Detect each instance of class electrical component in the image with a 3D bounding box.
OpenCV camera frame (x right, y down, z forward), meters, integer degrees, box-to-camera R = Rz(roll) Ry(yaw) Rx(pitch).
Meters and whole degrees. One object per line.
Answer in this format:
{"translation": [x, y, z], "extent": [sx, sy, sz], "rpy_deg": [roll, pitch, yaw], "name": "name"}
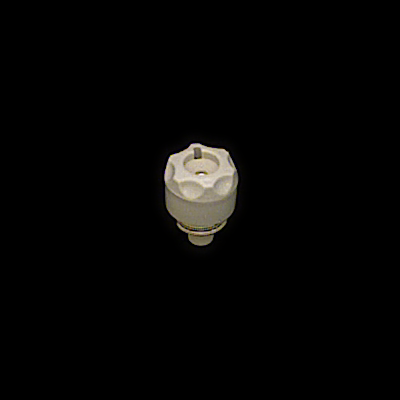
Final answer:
{"translation": [0.000, 0.000, 0.637], "extent": [0.043, 0.062, 0.043], "rpy_deg": [1, 43, 0], "name": "electrical component"}
